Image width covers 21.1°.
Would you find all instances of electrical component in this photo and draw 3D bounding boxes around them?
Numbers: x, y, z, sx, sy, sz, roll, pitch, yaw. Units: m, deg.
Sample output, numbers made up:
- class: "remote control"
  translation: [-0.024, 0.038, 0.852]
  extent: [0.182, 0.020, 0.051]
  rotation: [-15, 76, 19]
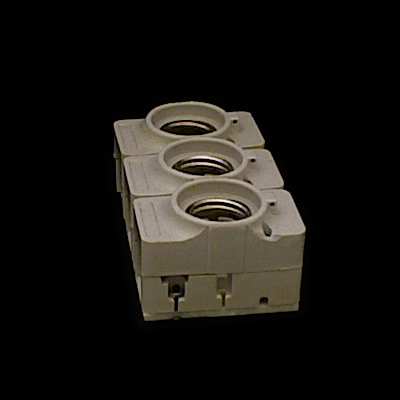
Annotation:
- class: "electrical component"
  translation: [0.000, 0.000, 0.641]
  extent: [0.089, 0.063, 0.146]
  rotation: [-4, 32, -9]
